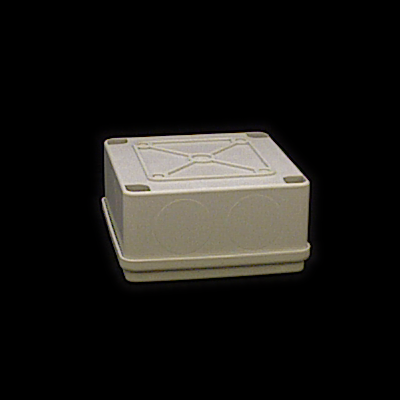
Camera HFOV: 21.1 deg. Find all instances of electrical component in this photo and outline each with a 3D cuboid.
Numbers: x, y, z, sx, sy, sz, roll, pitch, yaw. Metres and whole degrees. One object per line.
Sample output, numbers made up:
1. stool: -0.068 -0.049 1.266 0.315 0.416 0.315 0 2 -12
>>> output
1. electrical component: 0.000 0.000 0.639 0.109 0.057 0.107 -3 21 -11
